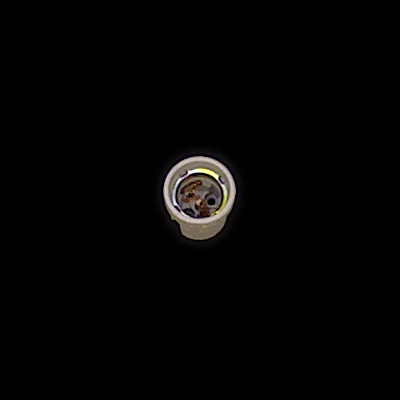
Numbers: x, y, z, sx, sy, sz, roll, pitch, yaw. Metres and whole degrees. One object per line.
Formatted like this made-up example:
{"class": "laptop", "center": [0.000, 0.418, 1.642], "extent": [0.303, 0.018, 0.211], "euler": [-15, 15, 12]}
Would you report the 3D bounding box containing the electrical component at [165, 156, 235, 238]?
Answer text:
{"class": "electrical component", "center": [0.000, 0.000, 0.627], "extent": [0.040, 0.040, 0.046], "euler": [0, -17, -1]}
